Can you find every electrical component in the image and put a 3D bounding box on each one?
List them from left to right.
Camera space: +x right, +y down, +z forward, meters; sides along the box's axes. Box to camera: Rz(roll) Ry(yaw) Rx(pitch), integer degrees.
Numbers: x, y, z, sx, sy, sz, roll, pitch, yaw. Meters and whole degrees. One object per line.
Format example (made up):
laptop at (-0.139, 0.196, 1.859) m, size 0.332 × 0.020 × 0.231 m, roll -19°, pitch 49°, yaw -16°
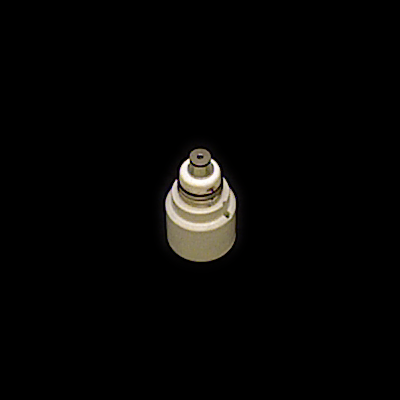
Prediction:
electrical component at (0.000, 0.000, 0.620) m, size 0.040 × 0.040 × 0.079 m, roll 0°, pitch -38°, yaw 1°
